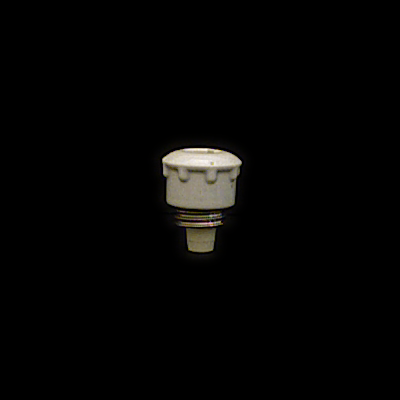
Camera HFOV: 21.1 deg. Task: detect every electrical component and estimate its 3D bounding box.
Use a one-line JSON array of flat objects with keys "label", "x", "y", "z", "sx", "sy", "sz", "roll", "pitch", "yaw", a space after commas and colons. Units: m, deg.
[{"label": "electrical component", "x": 0.000, "y": 0.000, "z": 0.652, "sx": 0.048, "sy": 0.062, "sz": 0.048, "roll": 1, "pitch": 11, "yaw": 0}]
